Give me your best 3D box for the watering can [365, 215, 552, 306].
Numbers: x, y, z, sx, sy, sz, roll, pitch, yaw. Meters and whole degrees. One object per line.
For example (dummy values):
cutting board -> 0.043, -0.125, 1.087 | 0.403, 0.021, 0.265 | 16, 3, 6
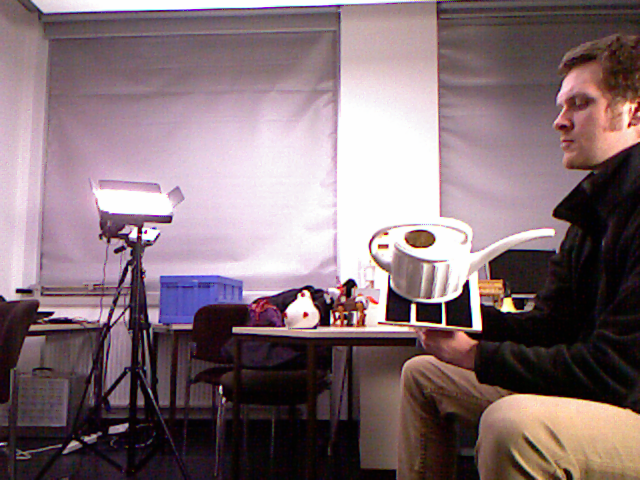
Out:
watering can -> 0.264, 0.041, 1.039 | 0.348, 0.107, 0.219 | 4, -44, 7
